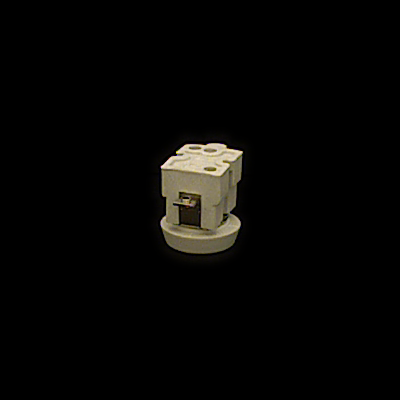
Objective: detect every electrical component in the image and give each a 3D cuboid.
[{"bbox_3d":[0.000,0.000,0.648,0.048,0.056,0.066,10,24,17],"label":"electrical component"}]
